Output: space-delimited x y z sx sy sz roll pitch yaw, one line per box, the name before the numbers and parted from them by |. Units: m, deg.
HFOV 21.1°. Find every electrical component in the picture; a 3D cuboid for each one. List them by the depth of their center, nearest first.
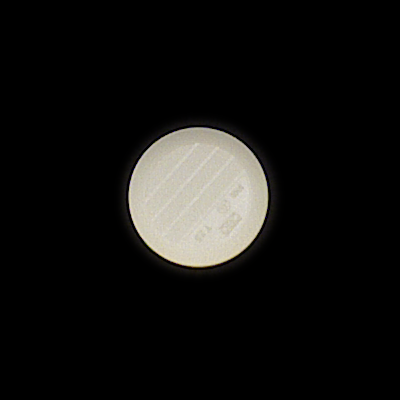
electrical component | 0.000 0.000 0.631 0.080 0.080 0.050 0 -6 0
